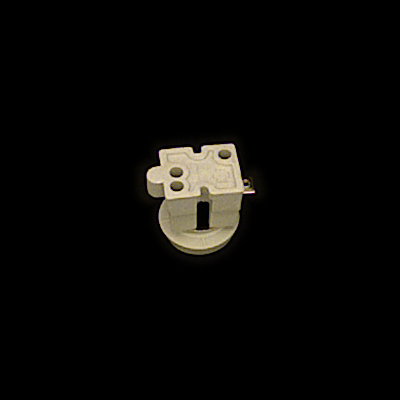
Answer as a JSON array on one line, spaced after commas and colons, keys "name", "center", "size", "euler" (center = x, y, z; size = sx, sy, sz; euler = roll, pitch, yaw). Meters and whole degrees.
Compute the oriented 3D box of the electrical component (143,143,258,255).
[{"name": "electrical component", "center": [0.000, 0.000, 0.638], "size": [0.067, 0.048, 0.055], "euler": [-6, -38, -6]}]
